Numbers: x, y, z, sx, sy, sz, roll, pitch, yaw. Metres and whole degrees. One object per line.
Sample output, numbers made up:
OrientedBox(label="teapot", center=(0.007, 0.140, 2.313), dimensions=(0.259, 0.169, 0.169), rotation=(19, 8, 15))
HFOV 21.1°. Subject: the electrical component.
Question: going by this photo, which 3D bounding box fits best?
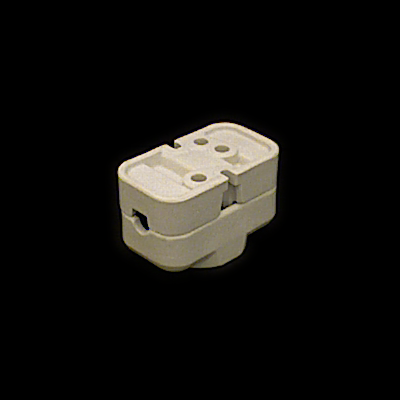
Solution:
OrientedBox(label="electrical component", center=(0.000, 0.000, 0.641), dimensions=(0.095, 0.060, 0.053), rotation=(-27, 42, -36))
